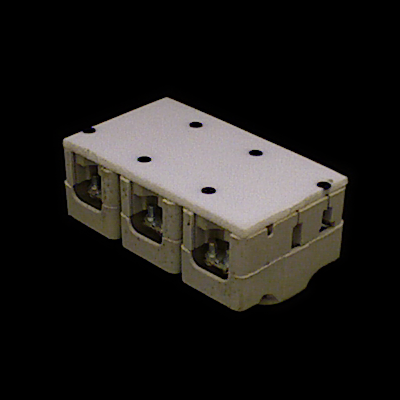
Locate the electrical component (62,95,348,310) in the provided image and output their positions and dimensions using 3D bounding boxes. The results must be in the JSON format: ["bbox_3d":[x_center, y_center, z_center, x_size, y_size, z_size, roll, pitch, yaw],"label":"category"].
[{"bbox_3d":[0.000,0.000,0.641,0.089,0.063,0.148,-26,40,-38],"label":"electrical component"}]
